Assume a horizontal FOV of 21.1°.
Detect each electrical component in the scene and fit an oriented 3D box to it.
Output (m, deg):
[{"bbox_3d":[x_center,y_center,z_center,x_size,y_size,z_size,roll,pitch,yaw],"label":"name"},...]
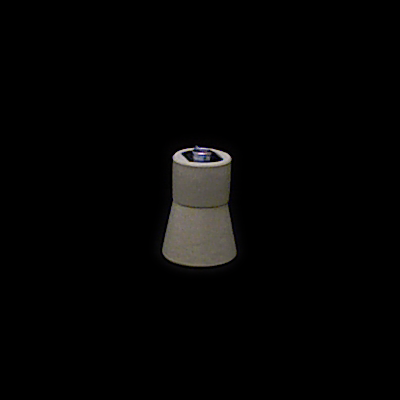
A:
[{"bbox_3d":[0.000,0.000,0.638,0.044,0.066,0.044,2,21,-1],"label":"electrical component"}]
